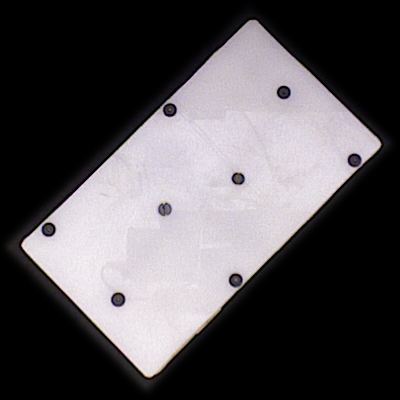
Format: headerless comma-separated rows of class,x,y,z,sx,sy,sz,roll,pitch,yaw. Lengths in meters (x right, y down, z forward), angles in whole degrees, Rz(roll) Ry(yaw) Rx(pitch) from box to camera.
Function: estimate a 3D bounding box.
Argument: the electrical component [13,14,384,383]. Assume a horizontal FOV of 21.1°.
electrical component,0.000,0.000,0.625,0.105,0.186,0.060,45,-5,5
